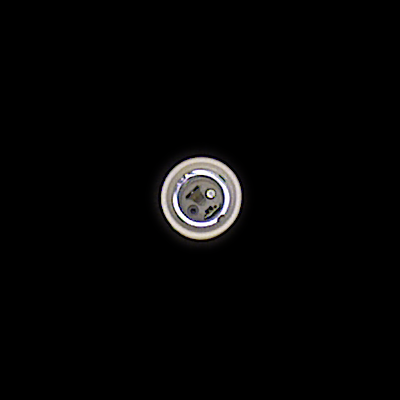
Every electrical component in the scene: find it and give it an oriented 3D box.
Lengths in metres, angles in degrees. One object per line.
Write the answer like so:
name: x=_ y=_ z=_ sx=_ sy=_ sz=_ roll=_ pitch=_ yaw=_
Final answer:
electrical component: x=0.000 y=0.000 z=0.629 sx=0.045 sy=0.045 sz=0.055 roll=0 pitch=-5 yaw=0
